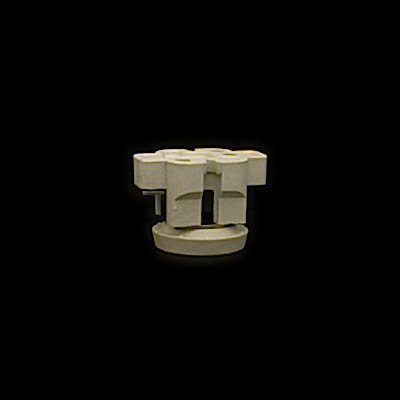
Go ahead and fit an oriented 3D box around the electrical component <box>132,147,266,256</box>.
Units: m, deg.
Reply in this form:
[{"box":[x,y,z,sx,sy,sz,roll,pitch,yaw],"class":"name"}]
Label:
[{"box":[0.000,0.000,0.649,0.079,0.057,0.057,-4,13,-17],"class":"electrical component"}]
